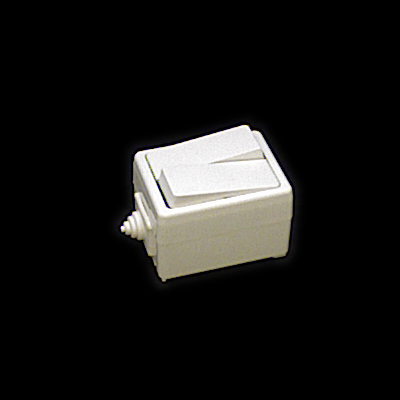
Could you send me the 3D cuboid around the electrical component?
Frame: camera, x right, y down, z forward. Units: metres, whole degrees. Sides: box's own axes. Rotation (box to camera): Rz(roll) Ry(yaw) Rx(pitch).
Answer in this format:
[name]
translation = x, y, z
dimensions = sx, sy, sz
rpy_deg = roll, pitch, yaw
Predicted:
[electrical component]
translation = 0.000, 0.000, 0.630
dimensions = 0.096, 0.061, 0.061
rpy_deg = -11, 43, -13
